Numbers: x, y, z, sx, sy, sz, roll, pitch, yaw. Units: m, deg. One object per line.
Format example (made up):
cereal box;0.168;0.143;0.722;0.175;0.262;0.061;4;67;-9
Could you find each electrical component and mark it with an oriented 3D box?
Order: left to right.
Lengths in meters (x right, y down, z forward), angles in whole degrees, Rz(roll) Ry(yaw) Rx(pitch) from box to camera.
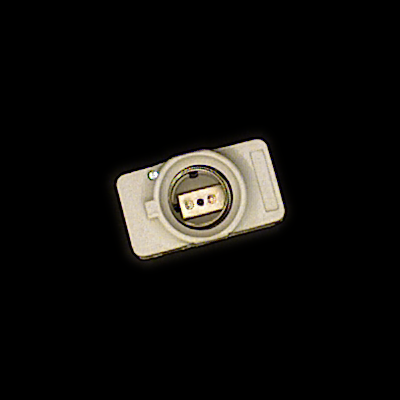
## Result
electrical component;0.000;0.000;0.637;0.090;0.050;0.055;-15;-6;-1
